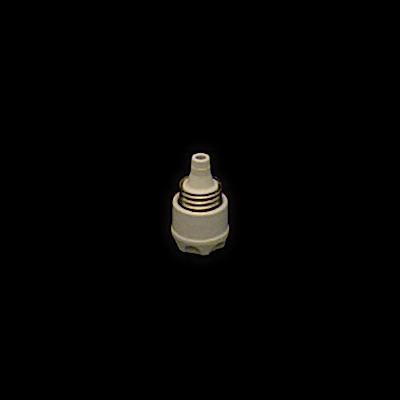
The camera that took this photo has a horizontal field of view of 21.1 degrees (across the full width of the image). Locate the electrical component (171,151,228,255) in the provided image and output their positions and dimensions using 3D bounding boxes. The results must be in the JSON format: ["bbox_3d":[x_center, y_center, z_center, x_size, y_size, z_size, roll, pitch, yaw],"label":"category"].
[{"bbox_3d":[0.000,0.000,0.645,0.035,0.062,0.034,1,31,0],"label":"electrical component"}]
